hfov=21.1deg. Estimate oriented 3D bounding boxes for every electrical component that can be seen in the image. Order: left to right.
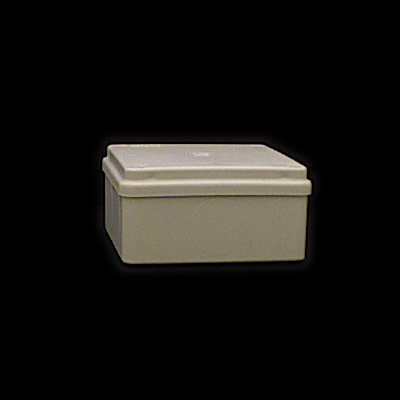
[{"bbox_3d":[0.000,0.000,0.643,0.109,0.056,0.107,-1,11,-11],"label":"electrical component"}]
